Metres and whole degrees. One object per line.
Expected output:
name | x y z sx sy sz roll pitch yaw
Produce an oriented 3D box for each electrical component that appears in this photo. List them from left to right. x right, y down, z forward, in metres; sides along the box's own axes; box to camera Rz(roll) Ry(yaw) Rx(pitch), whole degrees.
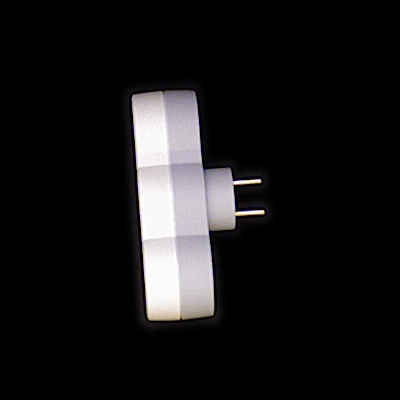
electrical component | 0.000 0.000 0.631 0.074 0.138 0.052 -4 -18 -3
